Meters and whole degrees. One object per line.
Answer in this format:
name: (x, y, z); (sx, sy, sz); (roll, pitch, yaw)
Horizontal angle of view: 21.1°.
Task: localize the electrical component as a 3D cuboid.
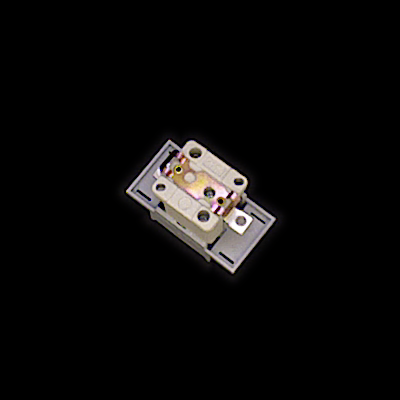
electrical component: (0.000, 0.000, 0.625); (0.081, 0.042, 0.063); (36, -13, 10)
